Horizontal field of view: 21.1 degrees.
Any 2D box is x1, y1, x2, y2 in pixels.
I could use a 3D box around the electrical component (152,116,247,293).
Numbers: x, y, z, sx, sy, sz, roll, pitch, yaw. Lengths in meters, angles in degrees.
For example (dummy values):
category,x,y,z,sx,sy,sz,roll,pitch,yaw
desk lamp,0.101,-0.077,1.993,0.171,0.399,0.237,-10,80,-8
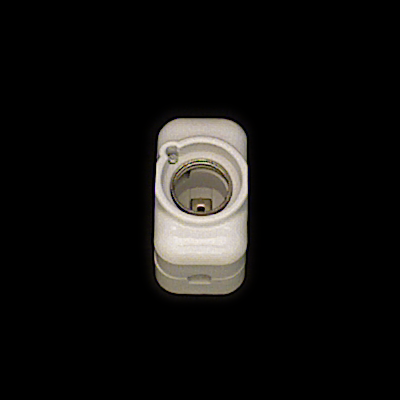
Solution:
category,x,y,z,sx,sy,sz,roll,pitch,yaw
electrical component,0.000,0.000,0.634,0.054,0.095,0.059,0,-27,0
